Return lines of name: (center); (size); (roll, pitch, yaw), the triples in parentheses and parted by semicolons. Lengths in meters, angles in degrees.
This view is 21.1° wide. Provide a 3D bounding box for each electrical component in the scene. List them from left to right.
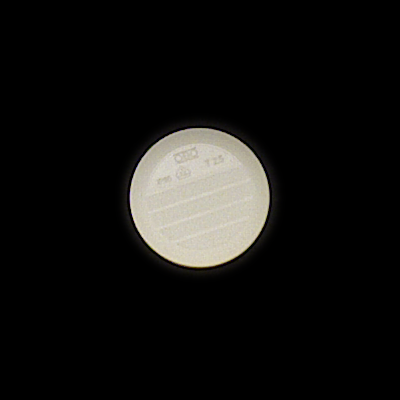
electrical component: (0.000, 0.000, 0.631); (0.080, 0.080, 0.050); (0, -7, 0)
